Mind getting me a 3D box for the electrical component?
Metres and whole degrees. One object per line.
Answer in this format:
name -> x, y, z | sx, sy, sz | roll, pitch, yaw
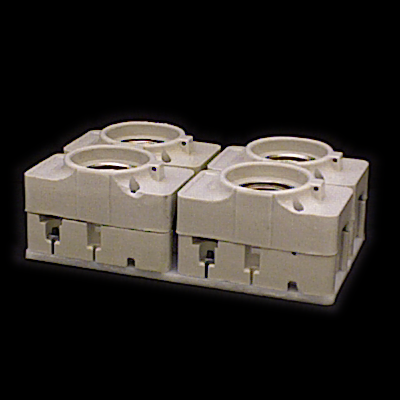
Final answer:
electrical component -> 0.000, 0.000, 0.639 | 0.186, 0.061, 0.104 | 8, 21, 16
